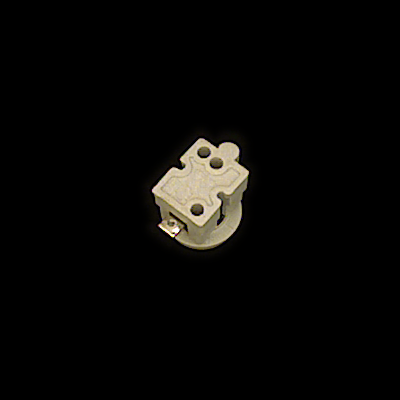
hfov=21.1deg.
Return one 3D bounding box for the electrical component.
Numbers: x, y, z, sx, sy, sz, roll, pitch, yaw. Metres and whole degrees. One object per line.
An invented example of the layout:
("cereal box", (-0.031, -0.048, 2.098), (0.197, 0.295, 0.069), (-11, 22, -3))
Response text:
("electrical component", (0.000, 0.000, 0.638), (0.048, 0.067, 0.055), (37, -20, 16))
